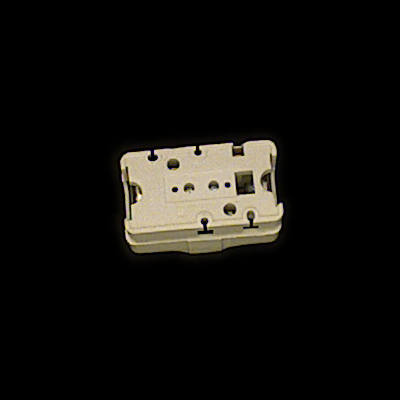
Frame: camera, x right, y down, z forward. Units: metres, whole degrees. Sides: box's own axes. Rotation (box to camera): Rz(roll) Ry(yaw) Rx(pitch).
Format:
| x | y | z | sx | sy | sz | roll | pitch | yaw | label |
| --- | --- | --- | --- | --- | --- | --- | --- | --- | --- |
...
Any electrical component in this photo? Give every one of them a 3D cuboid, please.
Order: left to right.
| x | y | z | sx | sy | sz | roll | pitch | yaw | label |
| --- | --- | --- | --- | --- | --- | --- | --- | --- | --- |
| 0.000 | 0.000 | 0.636 | 0.090 | 0.050 | 0.055 | -5 | -17 | -2 | electrical component |
